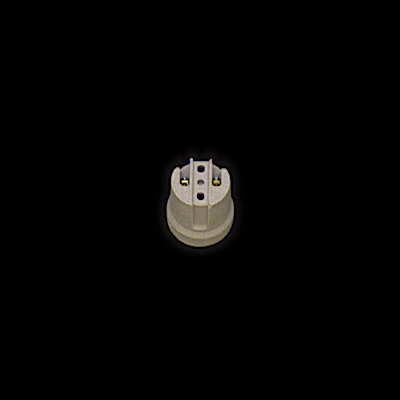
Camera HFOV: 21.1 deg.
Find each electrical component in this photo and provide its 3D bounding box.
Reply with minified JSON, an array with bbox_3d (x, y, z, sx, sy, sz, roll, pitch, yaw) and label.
[{"bbox_3d":[0.000,0.000,0.634,0.040,0.040,0.046,0,-27,-1],"label":"electrical component"}]
